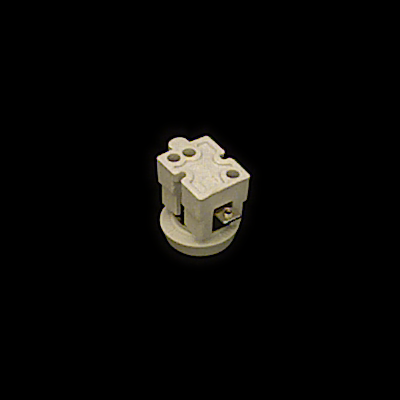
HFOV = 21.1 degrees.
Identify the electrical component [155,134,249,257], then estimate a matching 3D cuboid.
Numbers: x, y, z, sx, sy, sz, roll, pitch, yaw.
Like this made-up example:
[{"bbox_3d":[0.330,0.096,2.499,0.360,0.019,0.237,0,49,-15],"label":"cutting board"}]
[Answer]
[{"bbox_3d":[0.000,0.000,0.640,0.049,0.056,0.065,-25,49,-26],"label":"electrical component"}]
